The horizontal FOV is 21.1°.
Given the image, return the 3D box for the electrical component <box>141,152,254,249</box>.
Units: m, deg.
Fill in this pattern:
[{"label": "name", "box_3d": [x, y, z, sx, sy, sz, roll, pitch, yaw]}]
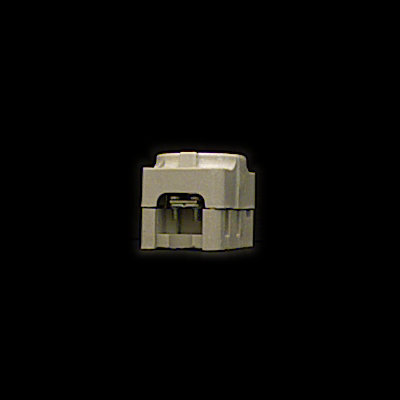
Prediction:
[{"label": "electrical component", "box_3d": [0.000, 0.000, 0.656, 0.050, 0.056, 0.090, 2, 1, 15]}]
